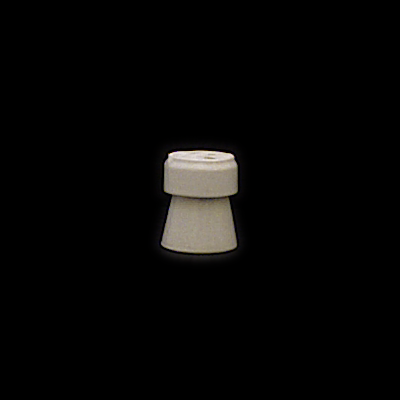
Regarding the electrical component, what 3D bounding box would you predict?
[{"bbox_3d":[0.000,0.000,0.643,0.045,0.055,0.044,1,12,0],"label":"electrical component"}]
